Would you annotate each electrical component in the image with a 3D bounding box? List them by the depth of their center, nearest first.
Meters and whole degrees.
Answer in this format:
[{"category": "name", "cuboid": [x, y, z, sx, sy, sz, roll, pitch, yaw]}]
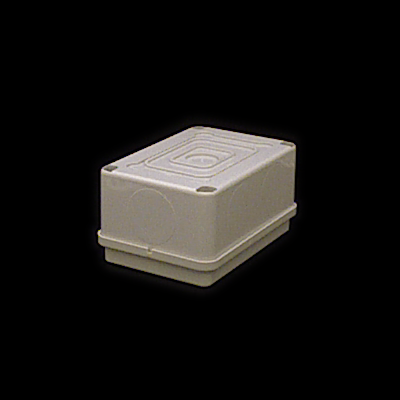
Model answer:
[{"category": "electrical component", "cuboid": [0.000, 0.000, 0.639, 0.077, 0.058, 0.112, 13, 24, 28]}]
